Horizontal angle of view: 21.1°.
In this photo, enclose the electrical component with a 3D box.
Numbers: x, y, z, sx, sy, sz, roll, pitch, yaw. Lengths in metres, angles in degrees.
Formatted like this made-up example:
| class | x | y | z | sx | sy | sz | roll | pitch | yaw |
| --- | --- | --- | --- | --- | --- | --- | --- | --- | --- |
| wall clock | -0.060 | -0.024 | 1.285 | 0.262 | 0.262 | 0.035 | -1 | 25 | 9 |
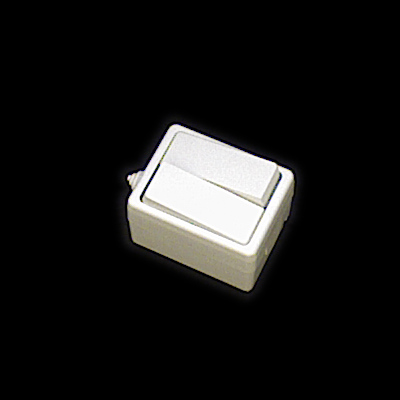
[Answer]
| class | x | y | z | sx | sy | sz | roll | pitch | yaw |
| --- | --- | --- | --- | --- | --- | --- | --- | --- | --- |
| electrical component | 0.000 | 0.000 | 0.627 | 0.096 | 0.062 | 0.061 | 23 | -25 | 12 |
